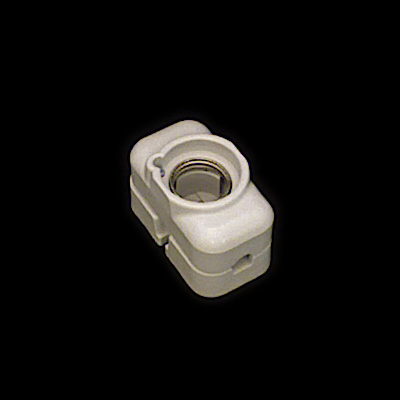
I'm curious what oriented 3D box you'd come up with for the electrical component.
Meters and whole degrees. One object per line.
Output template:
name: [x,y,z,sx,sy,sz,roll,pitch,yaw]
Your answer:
electrical component: [0.000,0.000,0.635,0.054,0.094,0.059,-27,-32,-19]
